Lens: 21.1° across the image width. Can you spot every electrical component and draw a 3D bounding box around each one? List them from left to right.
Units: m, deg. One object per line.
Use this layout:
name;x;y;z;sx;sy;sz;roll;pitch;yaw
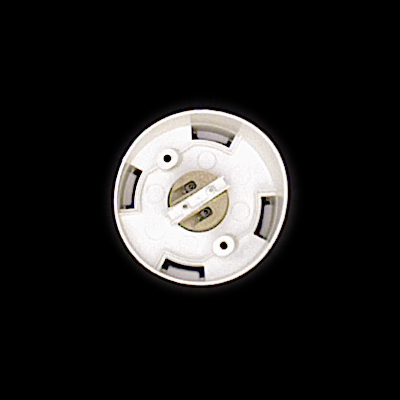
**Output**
electrical component;0.000;0.000;0.624;0.099;0.099;0.064;0;-7;0
